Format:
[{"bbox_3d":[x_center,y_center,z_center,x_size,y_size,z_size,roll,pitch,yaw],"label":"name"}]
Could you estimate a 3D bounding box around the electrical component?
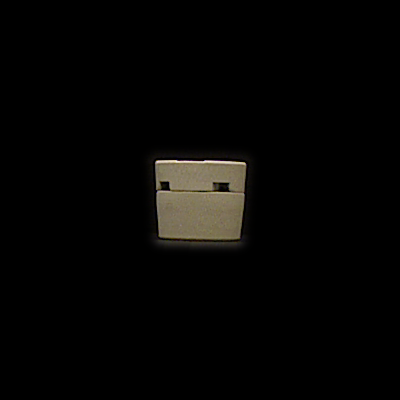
[{"bbox_3d":[0.000,0.000,0.649,0.055,0.047,0.055,1,1,0],"label":"electrical component"}]
